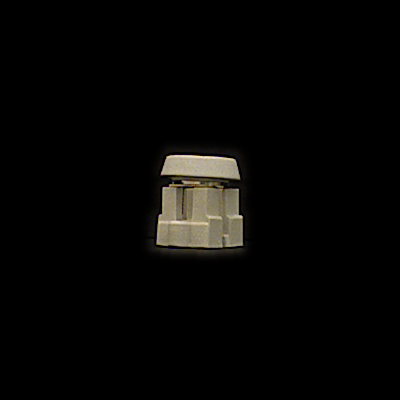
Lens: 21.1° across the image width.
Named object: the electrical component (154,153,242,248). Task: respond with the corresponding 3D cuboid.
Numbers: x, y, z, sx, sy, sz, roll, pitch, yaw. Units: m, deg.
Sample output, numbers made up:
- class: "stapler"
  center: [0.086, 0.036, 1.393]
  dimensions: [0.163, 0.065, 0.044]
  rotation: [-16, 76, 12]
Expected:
- class: "electrical component"
  center: [0.000, 0.000, 0.658]
  dimensions: [0.048, 0.055, 0.067]
  rotation: [5, 3, 30]
